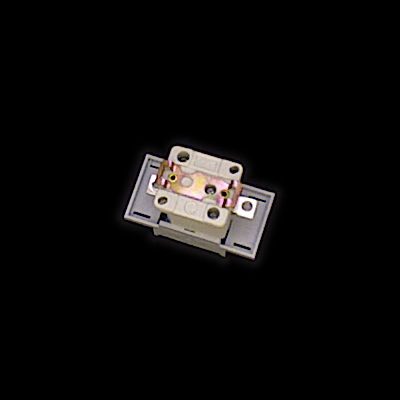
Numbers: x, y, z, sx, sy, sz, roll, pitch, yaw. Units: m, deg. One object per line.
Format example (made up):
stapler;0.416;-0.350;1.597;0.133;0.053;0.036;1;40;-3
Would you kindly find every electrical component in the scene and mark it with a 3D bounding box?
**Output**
electrical component;0.000;0.000;0.625;0.081;0.042;0.063;17;-16;5
